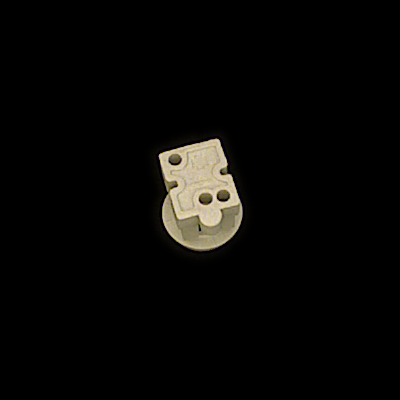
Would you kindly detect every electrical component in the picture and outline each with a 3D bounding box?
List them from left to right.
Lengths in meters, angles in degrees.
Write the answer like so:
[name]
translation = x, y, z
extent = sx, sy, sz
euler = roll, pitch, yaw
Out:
[electrical component]
translation = 0.000, 0.000, 0.637
extent = 0.048, 0.066, 0.055
euler = -14, -27, -5
